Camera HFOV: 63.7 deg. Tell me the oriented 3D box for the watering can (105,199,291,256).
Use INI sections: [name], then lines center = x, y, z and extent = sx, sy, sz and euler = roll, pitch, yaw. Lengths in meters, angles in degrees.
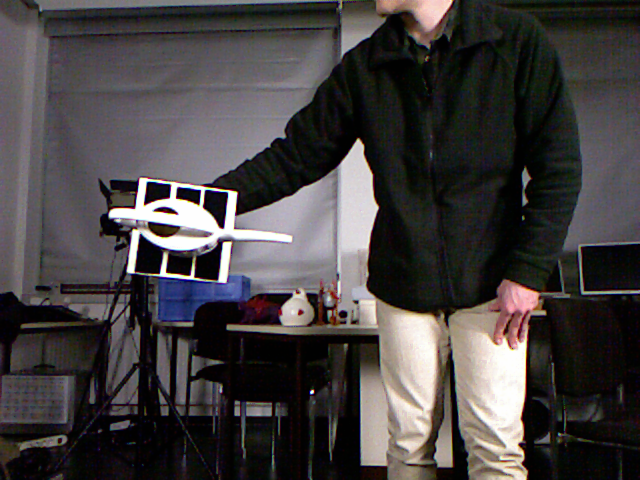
[watering can]
center = -0.240, -0.016, 1.029
extent = 0.348, 0.105, 0.223
euler = 9, -7, -8
